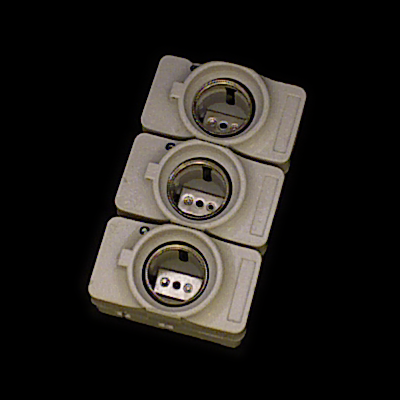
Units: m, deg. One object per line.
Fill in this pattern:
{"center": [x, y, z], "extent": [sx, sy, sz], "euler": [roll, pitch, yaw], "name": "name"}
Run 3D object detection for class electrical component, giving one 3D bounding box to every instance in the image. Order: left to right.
{"center": [0.000, 0.000, 0.631], "extent": [0.089, 0.150, 0.062], "euler": [15, -17, 5], "name": "electrical component"}
